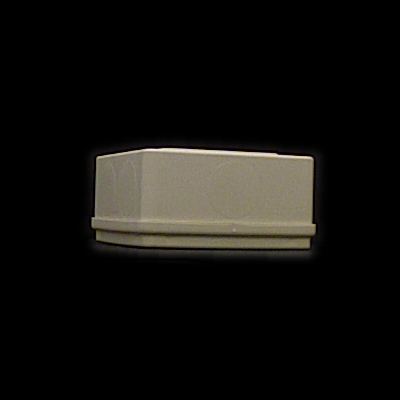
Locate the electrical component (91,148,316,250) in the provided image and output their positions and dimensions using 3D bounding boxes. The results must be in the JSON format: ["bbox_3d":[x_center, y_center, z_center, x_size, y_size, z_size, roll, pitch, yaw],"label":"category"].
[{"bbox_3d":[0.000,0.000,0.652,0.109,0.056,0.108,2,-1,-21],"label":"electrical component"}]
